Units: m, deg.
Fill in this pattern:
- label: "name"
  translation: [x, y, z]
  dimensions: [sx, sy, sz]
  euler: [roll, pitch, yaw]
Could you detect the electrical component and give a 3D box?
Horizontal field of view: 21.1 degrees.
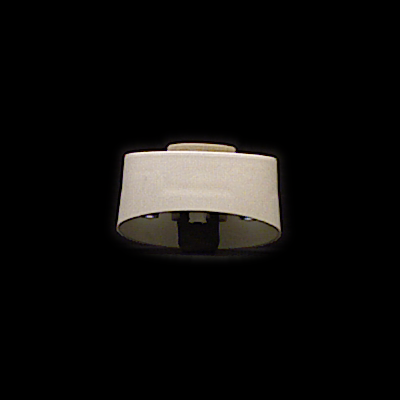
- label: "electrical component"
  translation: [0.000, 0.000, 0.649]
  dimensions: [0.099, 0.064, 0.099]
  euler: [1, -1, 0]
